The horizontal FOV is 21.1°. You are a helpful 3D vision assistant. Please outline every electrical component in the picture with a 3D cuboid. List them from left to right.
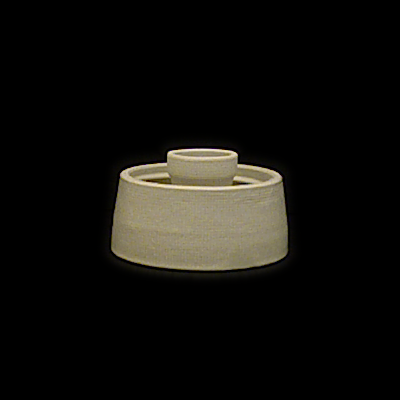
[{"bbox_3d":[0.000,0.000,0.650,0.108,0.061,0.107,1,11,0],"label":"electrical component"}]
